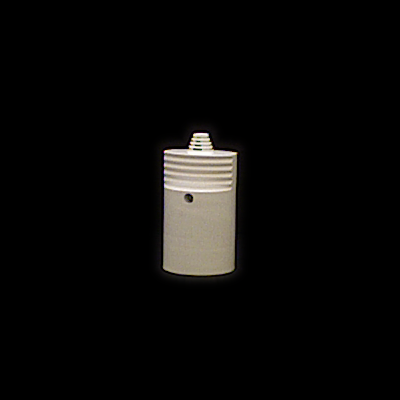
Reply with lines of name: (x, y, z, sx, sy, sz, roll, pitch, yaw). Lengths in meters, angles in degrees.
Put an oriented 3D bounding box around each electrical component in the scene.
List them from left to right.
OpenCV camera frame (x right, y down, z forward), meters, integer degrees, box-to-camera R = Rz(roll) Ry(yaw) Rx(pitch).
electrical component: (0.000, 0.000, 0.642, 0.043, 0.081, 0.043, 1, 11, 0)
